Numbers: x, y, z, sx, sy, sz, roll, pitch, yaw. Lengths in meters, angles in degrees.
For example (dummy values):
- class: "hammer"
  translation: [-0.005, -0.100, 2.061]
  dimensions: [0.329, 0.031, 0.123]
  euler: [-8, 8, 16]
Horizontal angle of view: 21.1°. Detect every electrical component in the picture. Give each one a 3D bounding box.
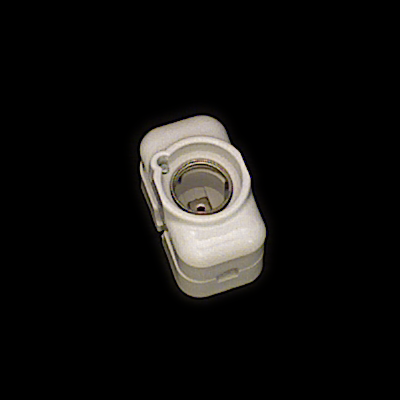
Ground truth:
- class: "electrical component"
  translation: [0.000, 0.000, 0.633]
  dimensions: [0.054, 0.095, 0.059]
  euler: [-18, -25, -9]
